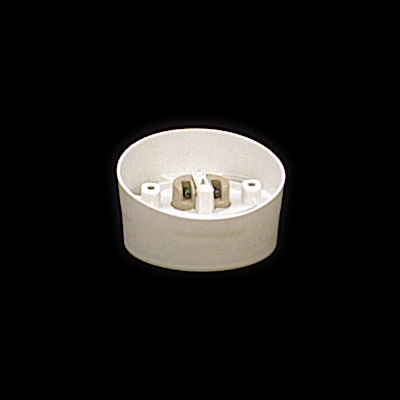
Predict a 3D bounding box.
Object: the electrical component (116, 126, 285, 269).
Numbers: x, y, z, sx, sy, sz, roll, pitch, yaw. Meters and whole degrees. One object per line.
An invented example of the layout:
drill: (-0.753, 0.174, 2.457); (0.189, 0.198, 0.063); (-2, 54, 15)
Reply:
electrical component: (0.000, 0.000, 0.638); (0.099, 0.065, 0.097); (1, 20, 0)
